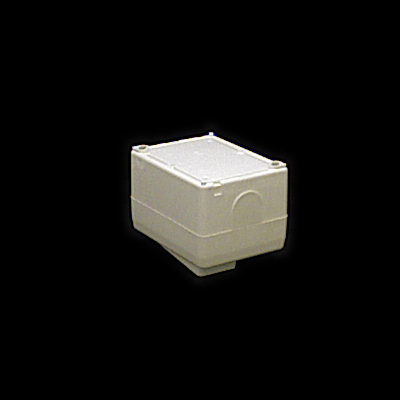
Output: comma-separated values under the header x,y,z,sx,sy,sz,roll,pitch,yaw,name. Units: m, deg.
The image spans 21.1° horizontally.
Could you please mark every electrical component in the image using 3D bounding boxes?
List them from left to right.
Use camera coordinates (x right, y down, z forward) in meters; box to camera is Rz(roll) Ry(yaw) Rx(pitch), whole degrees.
x,y,z,sx,sy,sz,roll,pitch,yaw,name
0.000,0.000,0.643,0.062,0.062,0.095,-13,25,-32,electrical component
